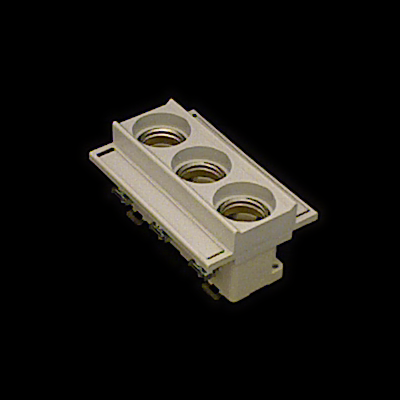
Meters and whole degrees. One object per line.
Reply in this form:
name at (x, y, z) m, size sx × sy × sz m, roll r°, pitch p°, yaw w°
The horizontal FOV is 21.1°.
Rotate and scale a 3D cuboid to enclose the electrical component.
electrical component at (0.000, 0.000, 0.644) m, size 0.078 × 0.064 × 0.120 m, roll -25°, pitch 48°, yaw -27°
